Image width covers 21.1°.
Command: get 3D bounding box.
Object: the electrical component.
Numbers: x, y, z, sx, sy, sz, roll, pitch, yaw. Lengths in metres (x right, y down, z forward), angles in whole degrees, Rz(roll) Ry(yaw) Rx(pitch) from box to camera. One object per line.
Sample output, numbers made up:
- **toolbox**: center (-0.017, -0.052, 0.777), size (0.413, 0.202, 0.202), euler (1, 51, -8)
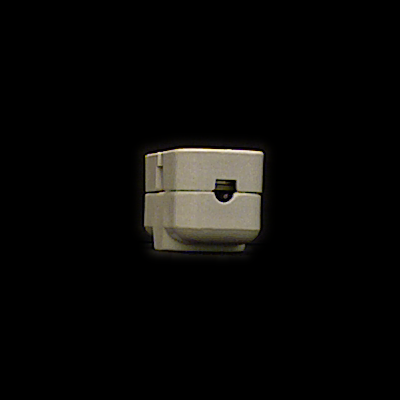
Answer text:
- **electrical component**: center (0.000, 0.000, 0.659), size (0.054, 0.059, 0.094), euler (1, 0, -18)
